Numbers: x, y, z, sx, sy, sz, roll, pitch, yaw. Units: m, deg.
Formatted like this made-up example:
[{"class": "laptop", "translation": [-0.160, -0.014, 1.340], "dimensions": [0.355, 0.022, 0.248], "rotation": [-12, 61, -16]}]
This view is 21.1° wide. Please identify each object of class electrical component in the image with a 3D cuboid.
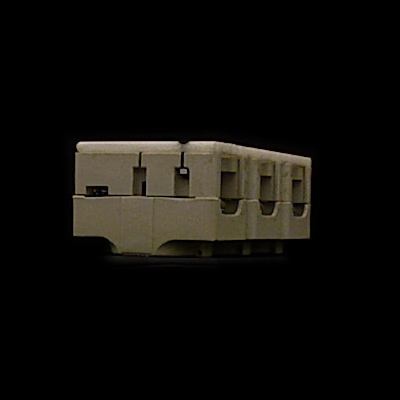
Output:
[{"class": "electrical component", "translation": [0.000, 0.000, 0.653], "dimensions": [0.089, 0.062, 0.150], "rotation": [1, -1, 26]}]
